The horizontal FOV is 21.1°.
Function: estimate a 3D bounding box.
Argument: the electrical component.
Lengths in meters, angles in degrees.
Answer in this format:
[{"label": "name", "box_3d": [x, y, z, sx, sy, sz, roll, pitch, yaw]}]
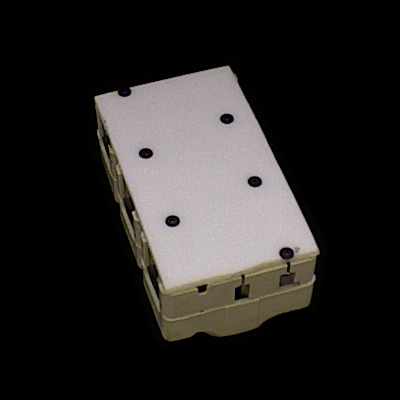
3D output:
[{"label": "electrical component", "box_3d": [0.000, 0.000, 0.634, 0.090, 0.147, 0.062, -14, -37, -11]}]
